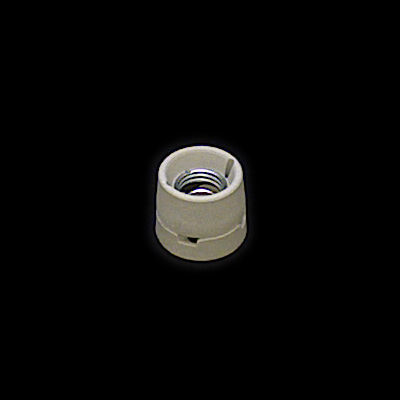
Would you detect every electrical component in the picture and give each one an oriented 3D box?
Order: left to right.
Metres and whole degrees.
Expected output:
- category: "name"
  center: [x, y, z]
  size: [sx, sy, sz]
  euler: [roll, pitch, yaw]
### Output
- category: "electrical component"
  center: [0.000, 0.000, 0.635]
  size: [0.055, 0.047, 0.055]
  euler: [0, 42, 0]
